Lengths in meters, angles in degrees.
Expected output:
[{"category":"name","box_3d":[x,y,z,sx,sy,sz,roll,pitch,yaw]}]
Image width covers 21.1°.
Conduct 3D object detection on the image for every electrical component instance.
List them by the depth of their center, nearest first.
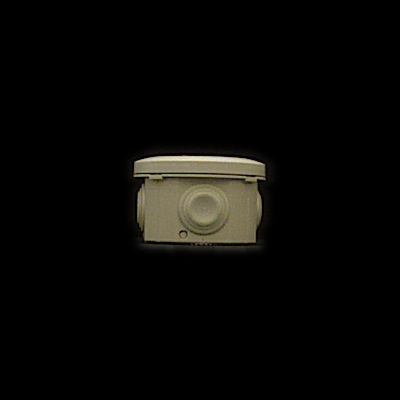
[{"category":"electrical component","box_3d":[0.000,0.000,0.652,0.080,0.051,0.080,1,0,0]}]
